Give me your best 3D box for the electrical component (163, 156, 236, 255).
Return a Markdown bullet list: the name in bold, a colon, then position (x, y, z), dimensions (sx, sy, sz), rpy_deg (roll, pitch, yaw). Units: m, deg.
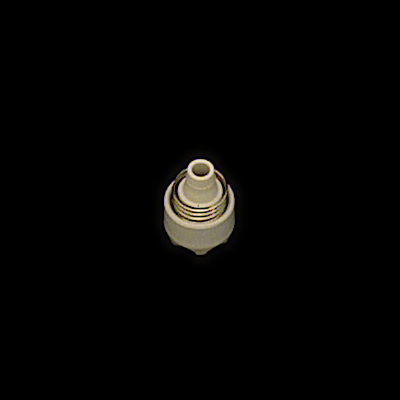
- **electrical component**: position (0.000, 0.000, 0.635), dimensions (0.043, 0.043, 0.062), rpy_deg (0, -36, -1)
